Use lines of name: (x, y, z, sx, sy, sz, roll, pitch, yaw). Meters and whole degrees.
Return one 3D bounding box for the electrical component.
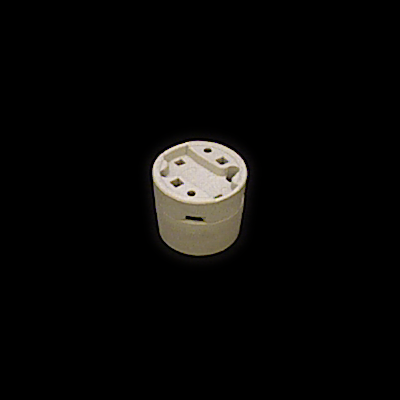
electrical component: (0.000, 0.000, 0.636, 0.055, 0.047, 0.055, 0, 42, 0)
